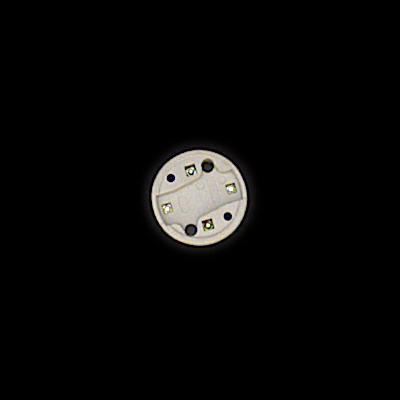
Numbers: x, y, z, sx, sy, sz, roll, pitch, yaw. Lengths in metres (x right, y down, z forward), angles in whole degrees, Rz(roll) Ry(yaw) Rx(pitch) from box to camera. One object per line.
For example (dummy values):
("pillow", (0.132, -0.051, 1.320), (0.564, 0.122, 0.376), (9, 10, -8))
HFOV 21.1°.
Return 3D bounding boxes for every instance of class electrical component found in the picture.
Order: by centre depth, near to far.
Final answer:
("electrical component", (0.000, 0.000, 0.636), (0.055, 0.055, 0.047), (0, -6, 0))
